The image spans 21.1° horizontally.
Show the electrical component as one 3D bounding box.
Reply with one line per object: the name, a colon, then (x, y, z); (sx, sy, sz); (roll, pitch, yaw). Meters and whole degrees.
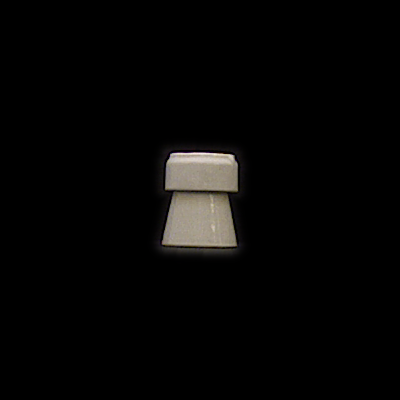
electrical component: (0.000, 0.000, 0.651); (0.045, 0.055, 0.045); (2, 1, 0)
